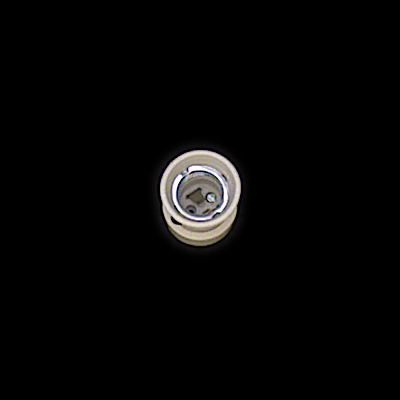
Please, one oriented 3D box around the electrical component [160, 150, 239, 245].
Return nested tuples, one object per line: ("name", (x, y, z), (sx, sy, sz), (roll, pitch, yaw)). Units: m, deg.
("electrical component", (0.000, 0.000, 0.628), (0.045, 0.045, 0.055), (0, -16, 0))
